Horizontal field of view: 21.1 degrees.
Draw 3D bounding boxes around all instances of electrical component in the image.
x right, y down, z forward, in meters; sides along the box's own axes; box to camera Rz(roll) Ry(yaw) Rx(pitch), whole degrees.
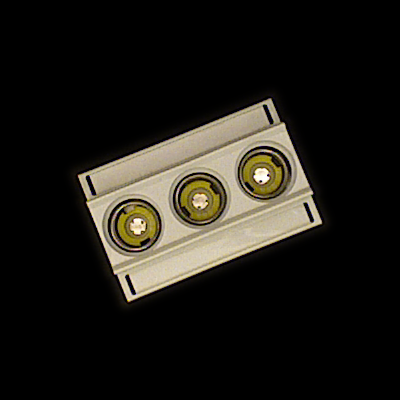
[{"bbox_3d":[0.000,0.000,0.637,0.121,0.079,0.063,-22,-4,-2],"label":"electrical component"}]
